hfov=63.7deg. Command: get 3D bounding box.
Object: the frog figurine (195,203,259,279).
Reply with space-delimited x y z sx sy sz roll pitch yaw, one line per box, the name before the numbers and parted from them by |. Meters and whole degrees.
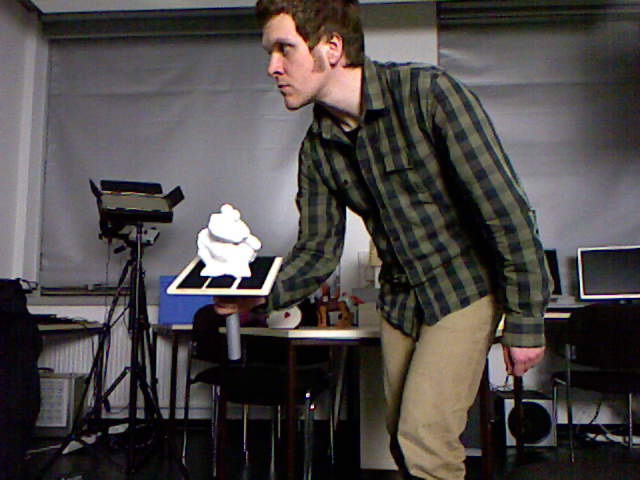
frog figurine | -0.199 -0.006 1.092 0.138 0.157 0.125 8 20 21
